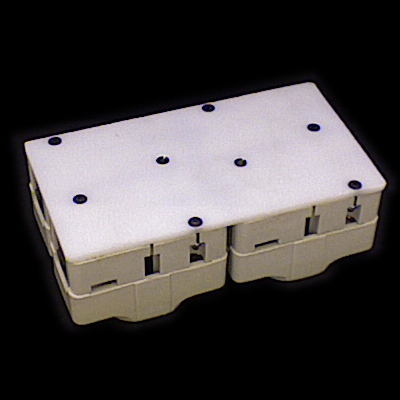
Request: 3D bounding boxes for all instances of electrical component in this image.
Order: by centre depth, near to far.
[{"bbox_3d":[0.000,0.000,0.630,0.186,0.061,0.104,-13,44,-15],"label":"electrical component"}]
